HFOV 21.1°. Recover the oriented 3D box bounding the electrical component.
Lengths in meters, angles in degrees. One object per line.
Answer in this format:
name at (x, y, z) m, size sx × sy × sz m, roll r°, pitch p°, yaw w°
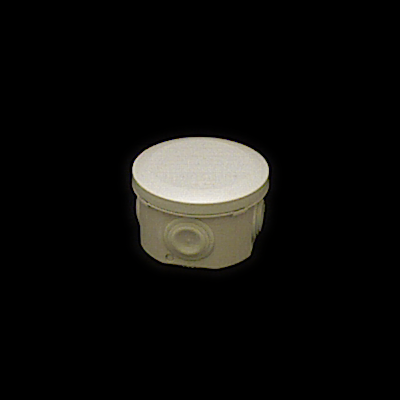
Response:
electrical component at (0.000, 0.000, 0.636) m, size 0.080 × 0.051 × 0.079 m, roll 1°, pitch 31°, yaw 0°
